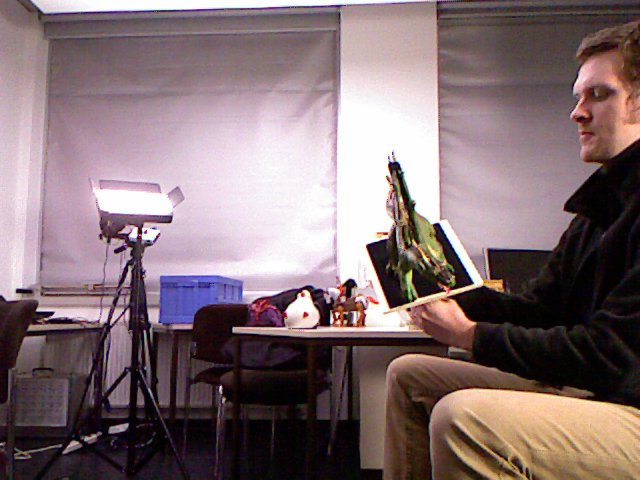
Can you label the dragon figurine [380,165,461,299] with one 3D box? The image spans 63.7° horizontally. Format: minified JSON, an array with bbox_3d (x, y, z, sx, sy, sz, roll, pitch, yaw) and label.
[{"bbox_3d":[0.167,-0.047,1.005,0.122,0.421,0.238,-19,-42,-1],"label":"dragon figurine"}]
